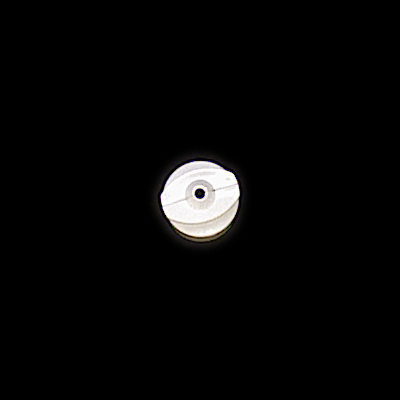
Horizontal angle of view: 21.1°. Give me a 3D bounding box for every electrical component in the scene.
[{"bbox_3d":[0.000,0.000,0.616,0.043,0.043,0.080,0,-6,1],"label":"electrical component"}]
